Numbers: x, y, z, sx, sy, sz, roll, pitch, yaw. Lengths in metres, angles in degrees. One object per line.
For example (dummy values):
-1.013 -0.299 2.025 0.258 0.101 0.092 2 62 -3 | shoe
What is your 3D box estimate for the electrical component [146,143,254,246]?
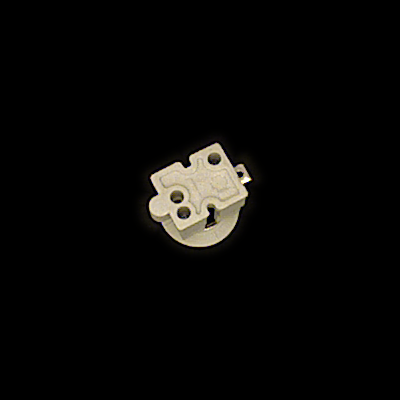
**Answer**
0.000 0.000 0.637 0.067 0.048 0.055 -27 -15 -8 | electrical component
